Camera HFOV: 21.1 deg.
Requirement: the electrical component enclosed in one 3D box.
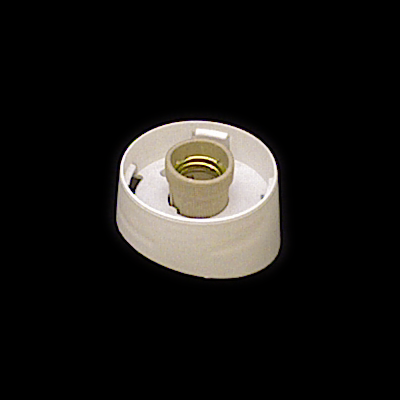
[{"bbox_3d":[0.000,0.000,0.629,0.099,0.064,0.098,1,42,0],"label":"electrical component"}]
